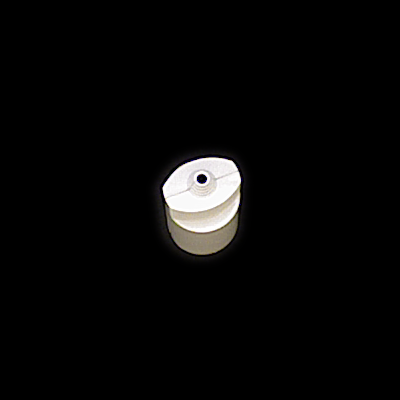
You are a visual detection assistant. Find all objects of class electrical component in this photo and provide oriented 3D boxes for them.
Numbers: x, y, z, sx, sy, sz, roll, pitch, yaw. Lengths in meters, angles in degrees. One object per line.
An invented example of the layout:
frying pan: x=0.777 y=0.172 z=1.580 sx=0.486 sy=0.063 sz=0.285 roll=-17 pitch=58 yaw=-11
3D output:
electrical component: x=0.000 y=0.000 z=0.616 sx=0.043 sy=0.043 sz=0.080 roll=0 pitch=-17 yaw=0
